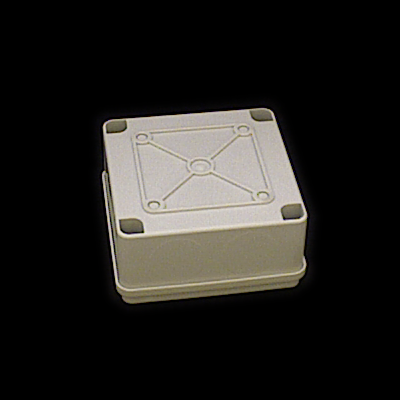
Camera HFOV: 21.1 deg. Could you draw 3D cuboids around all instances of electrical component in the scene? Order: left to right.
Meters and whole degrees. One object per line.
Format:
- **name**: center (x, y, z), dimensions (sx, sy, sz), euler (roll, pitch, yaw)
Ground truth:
- **electrical component**: center (0.000, 0.000, 0.632), dimensions (0.109, 0.057, 0.107), euler (-5, 43, -7)
